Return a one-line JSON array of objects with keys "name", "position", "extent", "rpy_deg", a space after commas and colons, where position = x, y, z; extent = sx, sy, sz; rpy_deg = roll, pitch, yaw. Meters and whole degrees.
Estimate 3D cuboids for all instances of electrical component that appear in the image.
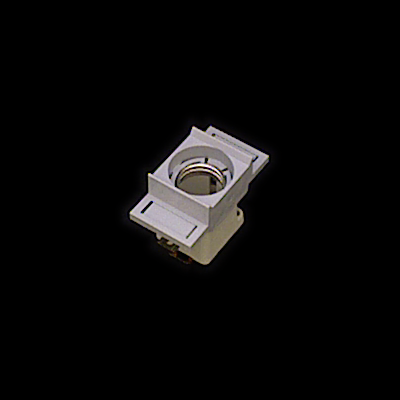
[{"name": "electrical component", "position": [0.000, 0.000, 0.624], "extent": [0.042, 0.081, 0.064], "rpy_deg": [30, -33, 20]}]
